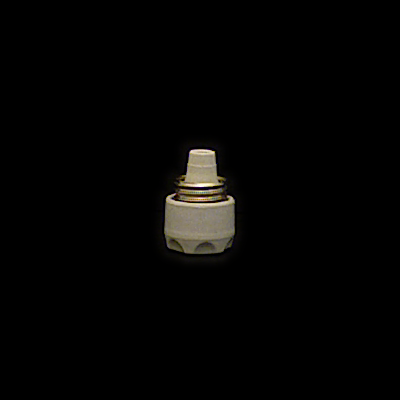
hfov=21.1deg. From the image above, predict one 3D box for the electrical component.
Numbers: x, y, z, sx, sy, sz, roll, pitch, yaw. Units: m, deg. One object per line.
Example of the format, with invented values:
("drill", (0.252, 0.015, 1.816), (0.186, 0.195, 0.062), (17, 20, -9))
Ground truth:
("electrical component", (0.000, 0.000, 0.650), (0.043, 0.062, 0.043), (2, 13, 0))
